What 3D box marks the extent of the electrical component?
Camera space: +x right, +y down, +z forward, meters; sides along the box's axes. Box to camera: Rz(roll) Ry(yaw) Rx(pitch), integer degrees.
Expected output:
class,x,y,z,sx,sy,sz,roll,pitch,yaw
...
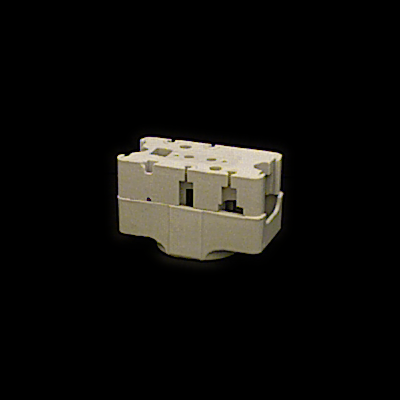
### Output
class,x,y,z,sx,sy,sz,roll,pitch,yaw
electrical component,0.000,0.000,0.646,0.089,0.056,0.050,8,24,18
